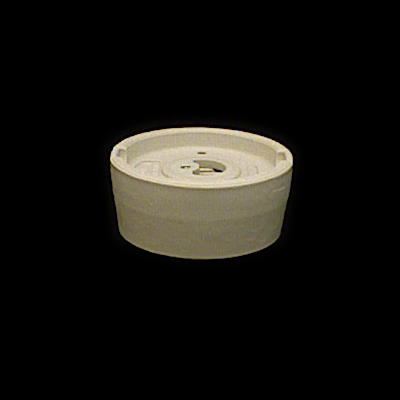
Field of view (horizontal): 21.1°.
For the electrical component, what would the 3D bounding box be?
[{"bbox_3d":[0.000,0.000,0.643,0.108,0.061,0.106,2,21,0],"label":"electrical component"}]
